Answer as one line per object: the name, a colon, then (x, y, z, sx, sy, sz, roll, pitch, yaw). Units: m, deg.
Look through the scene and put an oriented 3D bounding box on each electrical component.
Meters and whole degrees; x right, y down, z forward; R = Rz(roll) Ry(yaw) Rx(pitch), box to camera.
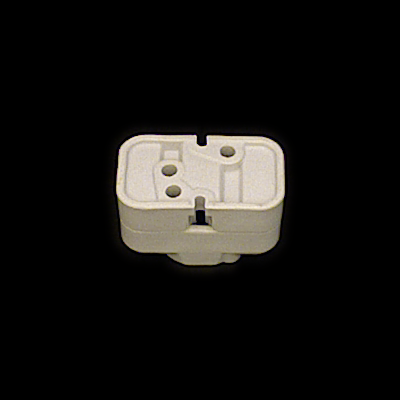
electrical component: (0.000, 0.000, 0.635, 0.095, 0.053, 0.059, 1, -37, 0)
